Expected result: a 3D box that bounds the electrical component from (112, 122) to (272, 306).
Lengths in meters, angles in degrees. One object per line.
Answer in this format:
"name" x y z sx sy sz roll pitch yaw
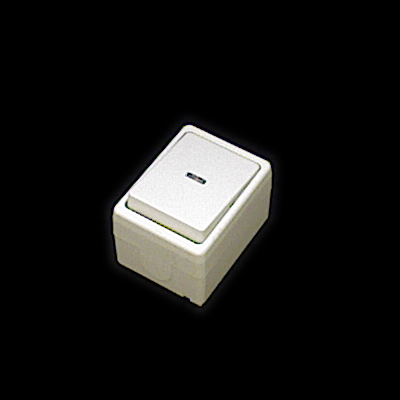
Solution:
"electrical component" 0.000 0.000 0.629 0.061 0.096 0.061 26 -34 19
